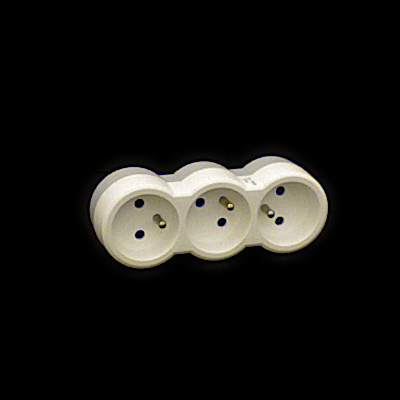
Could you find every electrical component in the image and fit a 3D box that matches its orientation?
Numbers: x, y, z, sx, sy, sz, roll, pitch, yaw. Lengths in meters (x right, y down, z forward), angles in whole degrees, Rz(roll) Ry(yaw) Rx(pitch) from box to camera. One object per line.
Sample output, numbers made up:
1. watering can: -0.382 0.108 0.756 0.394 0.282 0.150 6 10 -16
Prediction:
1. electrical component: 0.000 0.000 0.651 0.139 0.053 0.072 -5 21 -16
